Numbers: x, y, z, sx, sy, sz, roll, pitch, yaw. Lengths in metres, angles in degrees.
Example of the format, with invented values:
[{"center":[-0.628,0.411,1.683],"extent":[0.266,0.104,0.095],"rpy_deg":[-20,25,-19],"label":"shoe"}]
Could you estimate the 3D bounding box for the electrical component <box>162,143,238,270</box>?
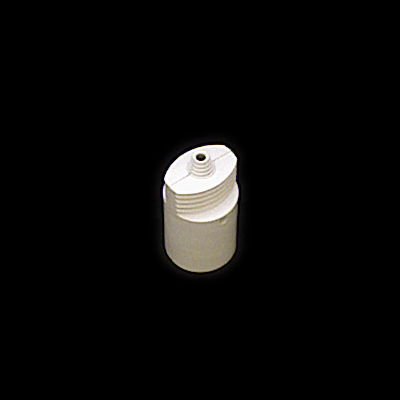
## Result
[{"center":[0.000,0.000,0.619],"extent":[0.043,0.043,0.081],"rpy_deg":[0,-38,0],"label":"electrical component"}]
